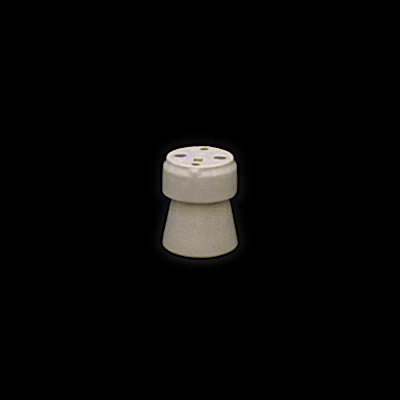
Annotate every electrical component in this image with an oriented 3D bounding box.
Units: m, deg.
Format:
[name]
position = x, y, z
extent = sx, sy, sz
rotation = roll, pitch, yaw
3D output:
[electrical component]
position = 0.000, 0.000, 0.640
extent = 0.045, 0.056, 0.044
rotation = 1, 21, 0
